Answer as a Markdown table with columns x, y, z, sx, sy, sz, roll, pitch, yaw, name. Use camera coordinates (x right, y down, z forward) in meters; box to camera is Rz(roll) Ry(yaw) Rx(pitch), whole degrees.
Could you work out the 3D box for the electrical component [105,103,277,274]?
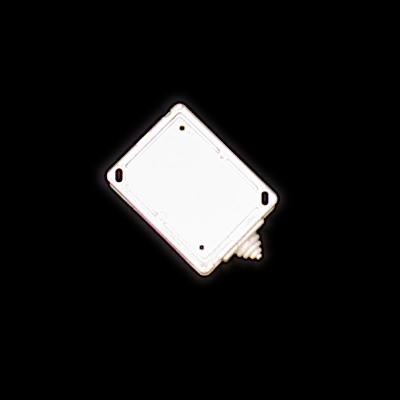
| x | y | z | sx | sy | sz | roll | pitch | yaw | name |
| --- | --- | --- | --- | --- | --- | --- | --- | --- | --- |
| 0.000 | 0.000 | 0.629 | 0.096 | 0.062 | 0.061 | 44 | -4 | 4 | electrical component |
